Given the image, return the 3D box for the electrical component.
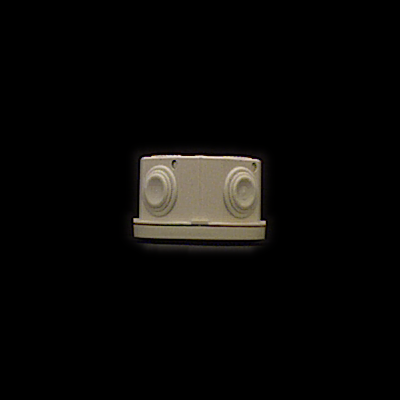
[{"bbox_3d":[0.000,0.000,0.651,0.080,0.051,0.080,1,0,0],"label":"electrical component"}]
